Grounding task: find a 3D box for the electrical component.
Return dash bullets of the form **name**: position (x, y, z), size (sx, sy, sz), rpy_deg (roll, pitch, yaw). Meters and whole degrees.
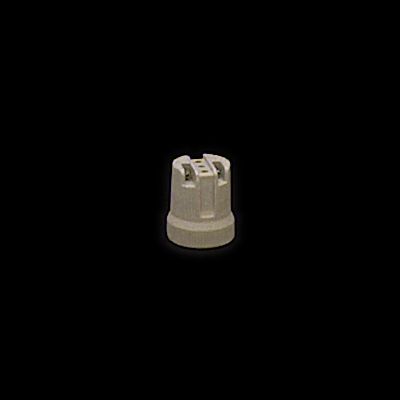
- **electrical component**: position (0.000, 0.000, 0.640), size (0.040, 0.046, 0.040), rpy_deg (1, 21, 0)
